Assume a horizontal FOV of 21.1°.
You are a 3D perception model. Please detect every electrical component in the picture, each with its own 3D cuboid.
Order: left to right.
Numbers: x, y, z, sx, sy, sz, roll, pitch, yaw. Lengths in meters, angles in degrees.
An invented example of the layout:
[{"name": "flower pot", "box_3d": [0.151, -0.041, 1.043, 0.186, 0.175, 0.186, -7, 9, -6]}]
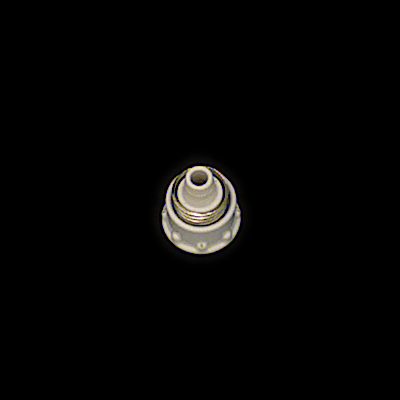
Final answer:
[{"name": "electrical component", "box_3d": [0.000, 0.000, 0.632, 0.048, 0.048, 0.062, 0, -26, 1]}]
